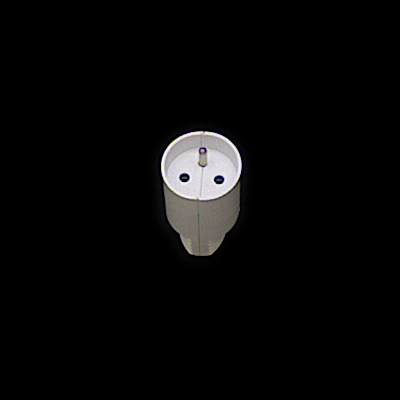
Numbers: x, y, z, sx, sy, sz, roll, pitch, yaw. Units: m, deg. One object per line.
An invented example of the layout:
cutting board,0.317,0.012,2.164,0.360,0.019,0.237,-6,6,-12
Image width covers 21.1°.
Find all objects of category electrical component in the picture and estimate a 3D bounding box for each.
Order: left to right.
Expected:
electrical component,0.000,0.000,0.617,0.043,0.043,0.081,0,-28,0
